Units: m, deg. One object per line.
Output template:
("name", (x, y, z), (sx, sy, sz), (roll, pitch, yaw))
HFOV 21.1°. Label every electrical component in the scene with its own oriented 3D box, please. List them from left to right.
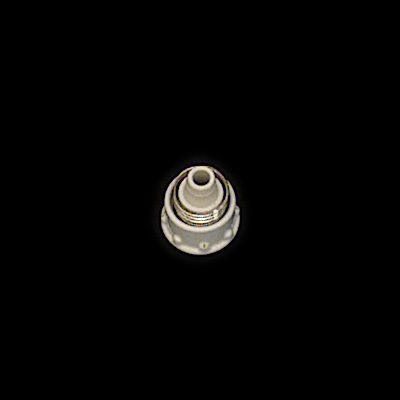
("electrical component", (0.000, 0.000, 0.634), (0.048, 0.048, 0.062), (0, -26, -1))
